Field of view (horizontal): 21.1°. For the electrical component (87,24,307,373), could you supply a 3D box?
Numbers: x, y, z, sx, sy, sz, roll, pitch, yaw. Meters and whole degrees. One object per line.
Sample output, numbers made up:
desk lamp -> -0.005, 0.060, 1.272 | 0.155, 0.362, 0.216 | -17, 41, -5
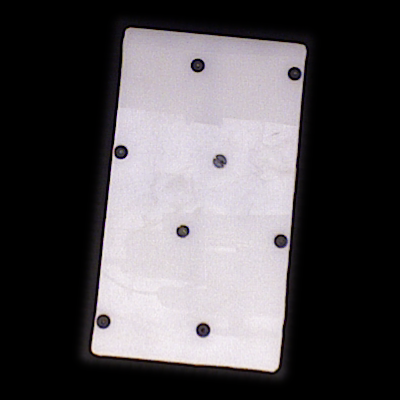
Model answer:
electrical component -> 0.000, 0.000, 0.626 | 0.105, 0.187, 0.060 | 5, -7, 1
